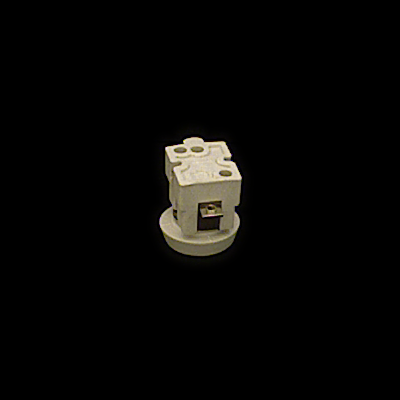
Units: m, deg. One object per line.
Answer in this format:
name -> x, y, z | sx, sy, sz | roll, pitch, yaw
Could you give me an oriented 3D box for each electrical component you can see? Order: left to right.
electrical component -> 0.000, 0.000, 0.644 | 0.048, 0.056, 0.065 | -6, 34, -12
